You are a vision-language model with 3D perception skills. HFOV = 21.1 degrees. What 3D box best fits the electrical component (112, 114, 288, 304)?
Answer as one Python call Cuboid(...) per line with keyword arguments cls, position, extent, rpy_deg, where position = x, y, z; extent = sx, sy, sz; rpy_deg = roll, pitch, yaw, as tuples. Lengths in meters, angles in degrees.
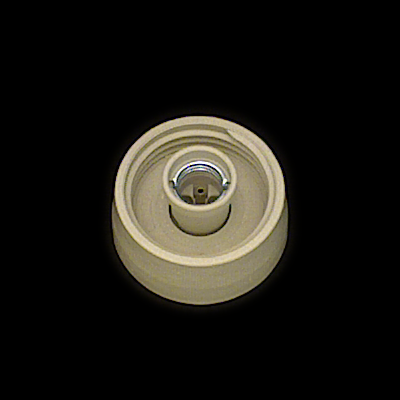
Cuboid(cls="electrical component", position=(0.000, 0.000, 0.634), extent=(0.108, 0.108, 0.060), rpy_deg=(0, -27, 0))
